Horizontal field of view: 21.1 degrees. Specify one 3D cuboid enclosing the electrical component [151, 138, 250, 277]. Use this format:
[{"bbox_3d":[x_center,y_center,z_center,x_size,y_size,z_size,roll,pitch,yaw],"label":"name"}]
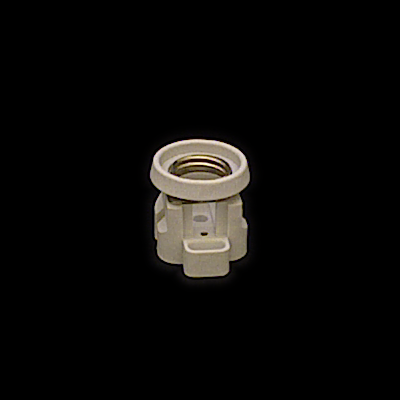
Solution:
[{"bbox_3d":[0.000,0.000,0.636,0.058,0.057,0.077,-3,32,-7],"label":"electrical component"}]
